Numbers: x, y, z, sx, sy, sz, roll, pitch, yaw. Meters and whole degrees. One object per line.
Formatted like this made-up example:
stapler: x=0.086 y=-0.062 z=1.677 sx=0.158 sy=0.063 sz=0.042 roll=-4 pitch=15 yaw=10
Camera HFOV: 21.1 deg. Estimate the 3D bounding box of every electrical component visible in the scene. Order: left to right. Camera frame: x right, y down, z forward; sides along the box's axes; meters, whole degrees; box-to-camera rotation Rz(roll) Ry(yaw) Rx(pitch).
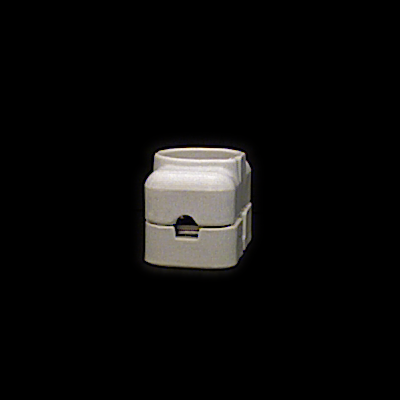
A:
electrical component: x=0.000 y=0.000 z=0.650 sx=0.053 sy=0.060 sz=0.094 roll=3 pitch=12 yaw=9
